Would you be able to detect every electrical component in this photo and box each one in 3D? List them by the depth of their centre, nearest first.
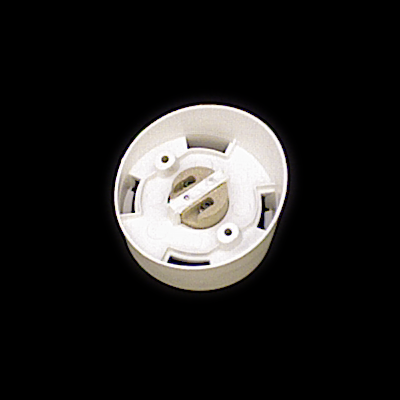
[{"bbox_3d":[0.000,0.000,0.625,0.099,0.099,0.064,0,-28,-1],"label":"electrical component"}]
